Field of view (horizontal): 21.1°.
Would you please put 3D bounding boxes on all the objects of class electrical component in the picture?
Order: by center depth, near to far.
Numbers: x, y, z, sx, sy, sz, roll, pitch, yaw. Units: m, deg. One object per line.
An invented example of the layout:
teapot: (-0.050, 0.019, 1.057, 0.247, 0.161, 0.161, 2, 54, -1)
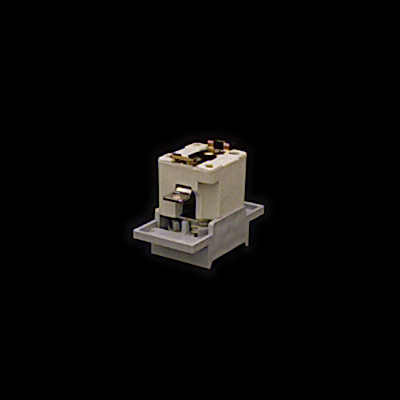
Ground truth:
electrical component: (0.000, 0.000, 0.639, 0.042, 0.064, 0.080, 14, 24, 30)
